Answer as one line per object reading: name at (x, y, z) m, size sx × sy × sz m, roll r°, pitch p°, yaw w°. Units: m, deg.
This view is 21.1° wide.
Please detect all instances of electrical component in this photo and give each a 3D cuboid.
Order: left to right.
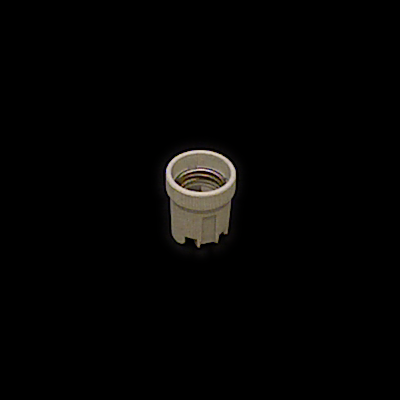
electrical component at (0.000, 0.000, 0.631) m, size 0.040 × 0.047 × 0.039 m, roll 1°, pitch 42°, yaw 0°
